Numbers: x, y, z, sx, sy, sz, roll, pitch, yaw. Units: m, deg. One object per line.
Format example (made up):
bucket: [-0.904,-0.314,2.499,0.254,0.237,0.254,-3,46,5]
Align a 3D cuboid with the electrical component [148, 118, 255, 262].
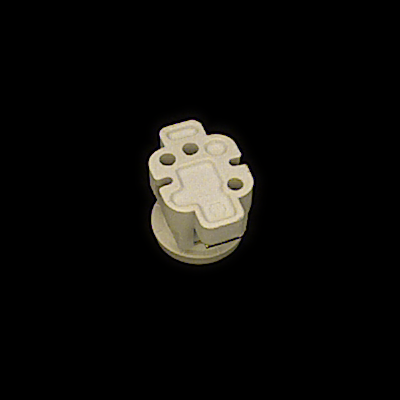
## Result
electrical component: [0.000,0.000,0.636,0.058,0.078,0.057,-17,-33,-14]
